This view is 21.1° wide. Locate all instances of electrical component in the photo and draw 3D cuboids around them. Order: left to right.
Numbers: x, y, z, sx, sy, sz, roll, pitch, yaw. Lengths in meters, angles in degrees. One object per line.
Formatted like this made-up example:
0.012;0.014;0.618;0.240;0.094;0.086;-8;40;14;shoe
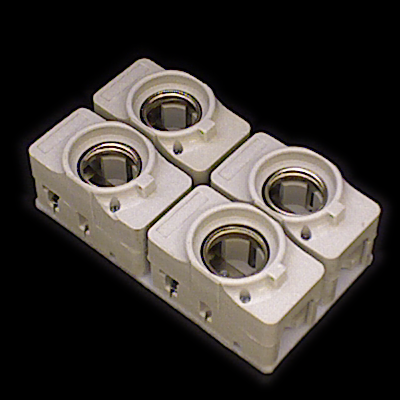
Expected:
0.000;0.000;0.628;0.185;0.060;0.105;34;59;23;electrical component
